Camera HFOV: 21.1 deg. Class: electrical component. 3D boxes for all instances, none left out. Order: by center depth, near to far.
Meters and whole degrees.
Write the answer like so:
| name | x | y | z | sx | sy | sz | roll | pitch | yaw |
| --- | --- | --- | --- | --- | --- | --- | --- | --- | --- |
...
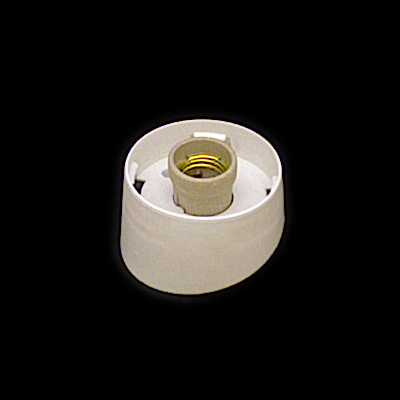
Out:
| name | x | y | z | sx | sy | sz | roll | pitch | yaw |
| --- | --- | --- | --- | --- | --- | --- | --- | --- | --- |
| electrical component | 0.000 | 0.000 | 0.630 | 0.099 | 0.065 | 0.098 | 0 | 42 | 0 |
